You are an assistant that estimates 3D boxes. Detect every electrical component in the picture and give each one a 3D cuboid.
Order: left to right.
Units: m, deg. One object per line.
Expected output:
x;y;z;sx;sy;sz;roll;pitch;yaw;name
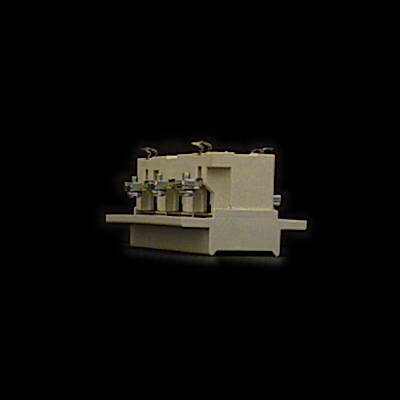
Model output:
0.000;0.000;0.659;0.079;0.063;0.120;2;0;-25;electrical component
